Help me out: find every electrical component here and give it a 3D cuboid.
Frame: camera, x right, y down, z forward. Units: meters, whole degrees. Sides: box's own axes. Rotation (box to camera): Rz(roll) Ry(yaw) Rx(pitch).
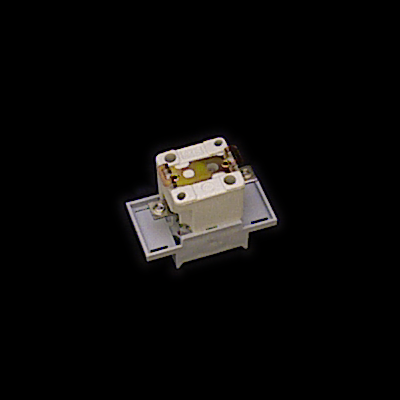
[{"bbox_3d":[0.000,0.000,0.627,0.081,0.042,0.064,-16,-36,-12],"label":"electrical component"}]
